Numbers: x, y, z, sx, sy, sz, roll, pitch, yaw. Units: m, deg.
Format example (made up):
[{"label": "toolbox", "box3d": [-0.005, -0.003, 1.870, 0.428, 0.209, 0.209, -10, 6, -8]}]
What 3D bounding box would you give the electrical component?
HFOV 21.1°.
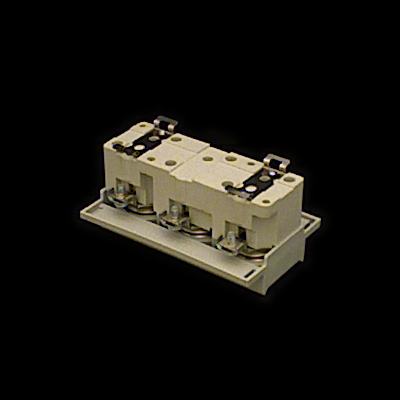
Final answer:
[{"label": "electrical component", "box3d": [0.000, 0.000, 0.638, 0.120, 0.064, 0.078, 21, 38, 29]}]
